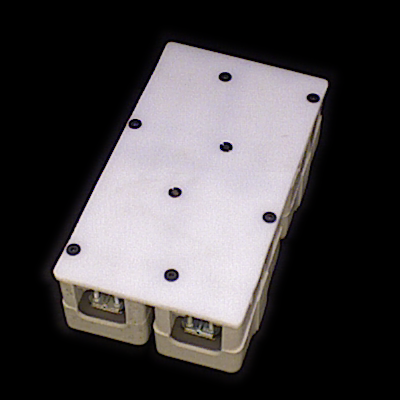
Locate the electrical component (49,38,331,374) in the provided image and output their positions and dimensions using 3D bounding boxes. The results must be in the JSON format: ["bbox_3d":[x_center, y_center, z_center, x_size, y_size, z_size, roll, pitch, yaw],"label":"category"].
[{"bbox_3d":[0.000,0.000,0.627,0.105,0.185,0.060,15,-37,10],"label":"electrical component"}]
